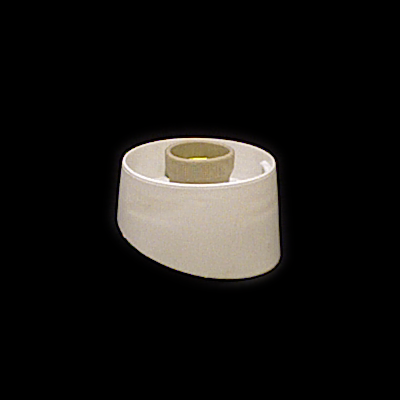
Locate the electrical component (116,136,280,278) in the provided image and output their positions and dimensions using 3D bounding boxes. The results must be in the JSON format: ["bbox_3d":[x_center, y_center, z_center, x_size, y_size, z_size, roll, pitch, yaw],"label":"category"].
[{"bbox_3d":[0.000,0.000,0.638,0.099,0.065,0.097,1,21,0],"label":"electrical component"}]
